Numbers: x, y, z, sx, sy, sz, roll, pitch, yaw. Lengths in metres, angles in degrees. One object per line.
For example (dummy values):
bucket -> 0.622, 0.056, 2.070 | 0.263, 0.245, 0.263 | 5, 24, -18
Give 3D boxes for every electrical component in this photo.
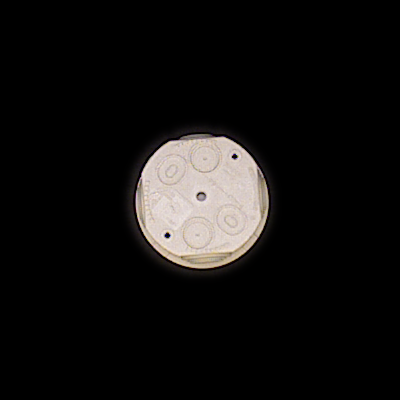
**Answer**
electrical component -> 0.000, 0.000, 0.633 | 0.080, 0.080, 0.050 | 0, -6, 1
